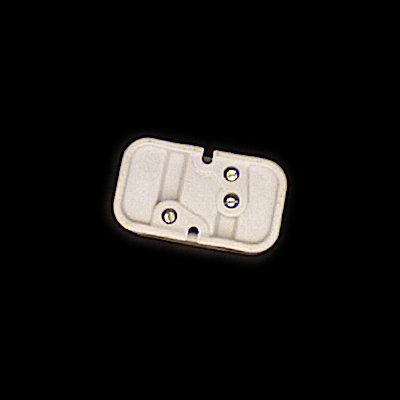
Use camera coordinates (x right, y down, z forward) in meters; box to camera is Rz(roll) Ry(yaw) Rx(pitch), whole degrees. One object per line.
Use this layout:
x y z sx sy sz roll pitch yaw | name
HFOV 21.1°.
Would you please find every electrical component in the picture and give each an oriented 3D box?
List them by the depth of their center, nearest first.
0.000 0.000 0.637 0.095 0.054 0.059 10 -5 2 | electrical component
